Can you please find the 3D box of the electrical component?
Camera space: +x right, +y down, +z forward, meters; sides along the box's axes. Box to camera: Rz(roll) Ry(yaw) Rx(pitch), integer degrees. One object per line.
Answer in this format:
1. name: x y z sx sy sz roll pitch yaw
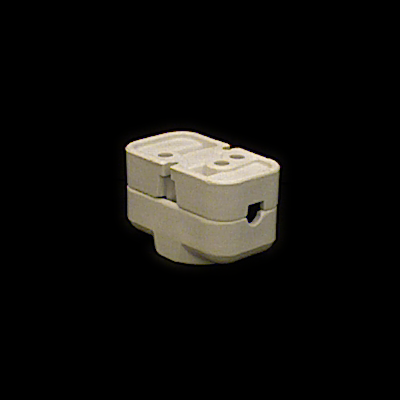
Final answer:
1. electrical component: 0.000 0.000 0.648 0.054 0.060 0.093 -18 28 -39
